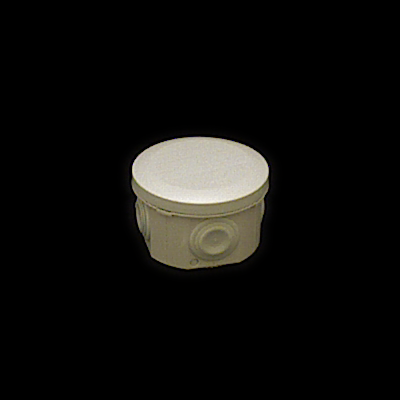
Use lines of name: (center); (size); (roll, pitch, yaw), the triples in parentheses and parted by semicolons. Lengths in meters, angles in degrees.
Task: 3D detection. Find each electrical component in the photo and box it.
electrical component: (0.000, 0.000, 0.635); (0.080, 0.051, 0.079); (1, 31, 0)
